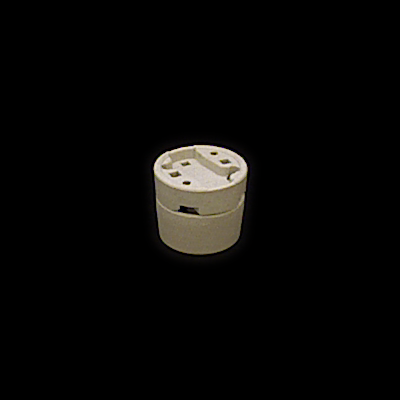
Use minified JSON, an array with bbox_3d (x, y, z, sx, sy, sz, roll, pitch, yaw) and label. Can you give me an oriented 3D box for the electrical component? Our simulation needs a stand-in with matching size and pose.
[{"bbox_3d":[0.000,0.000,0.639,0.055,0.047,0.055,1,32,0],"label":"electrical component"}]
